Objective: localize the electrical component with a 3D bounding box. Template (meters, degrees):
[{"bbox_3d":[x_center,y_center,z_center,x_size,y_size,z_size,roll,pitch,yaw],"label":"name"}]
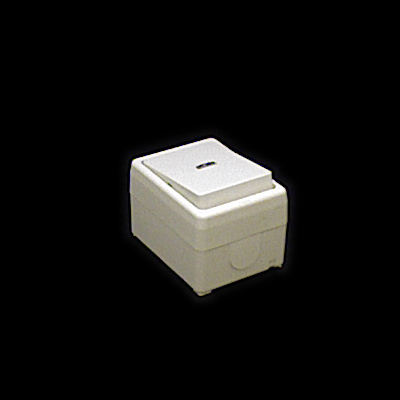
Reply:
[{"bbox_3d":[0.000,0.000,0.636,0.061,0.062,0.095,-18,36,-28],"label":"electrical component"}]
